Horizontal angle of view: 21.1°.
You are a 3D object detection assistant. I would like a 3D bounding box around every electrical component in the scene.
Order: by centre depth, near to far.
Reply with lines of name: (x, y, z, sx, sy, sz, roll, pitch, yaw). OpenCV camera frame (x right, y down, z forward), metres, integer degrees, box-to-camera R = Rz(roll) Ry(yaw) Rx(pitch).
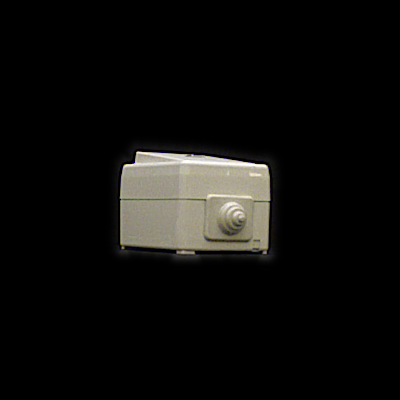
electrical component: (0.000, 0.000, 0.647, 0.062, 0.061, 0.096, 1, 0, -31)
